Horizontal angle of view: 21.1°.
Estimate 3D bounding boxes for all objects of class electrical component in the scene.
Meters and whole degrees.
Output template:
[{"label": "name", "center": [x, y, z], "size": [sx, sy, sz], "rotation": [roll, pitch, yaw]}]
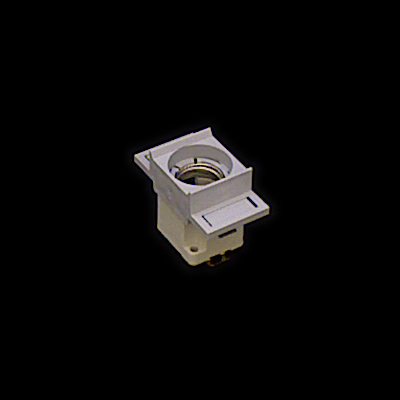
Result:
[{"label": "electrical component", "center": [0.000, 0.000, 0.630], "size": [0.042, 0.064, 0.080], "rotation": [-24, 48, -23]}]
